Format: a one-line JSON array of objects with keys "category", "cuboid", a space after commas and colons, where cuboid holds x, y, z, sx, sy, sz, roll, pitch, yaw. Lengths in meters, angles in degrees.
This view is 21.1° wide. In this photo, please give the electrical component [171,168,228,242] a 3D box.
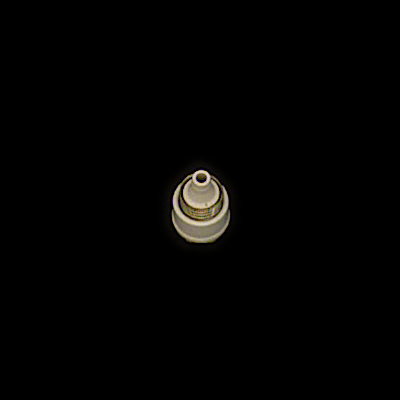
[{"category": "electrical component", "cuboid": [0.000, 0.000, 0.638, 0.035, 0.035, 0.061, 0, -26, -1]}]
